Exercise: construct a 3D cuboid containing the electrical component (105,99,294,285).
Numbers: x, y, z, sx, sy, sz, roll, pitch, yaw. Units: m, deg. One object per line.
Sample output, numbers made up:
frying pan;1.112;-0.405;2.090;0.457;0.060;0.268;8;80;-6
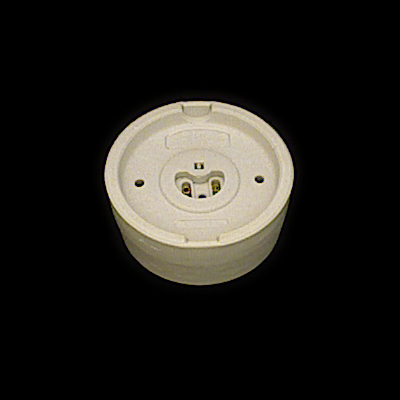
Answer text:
electrical component;0.000;0.000;0.637;0.108;0.107;0.060;0;-37;-1
